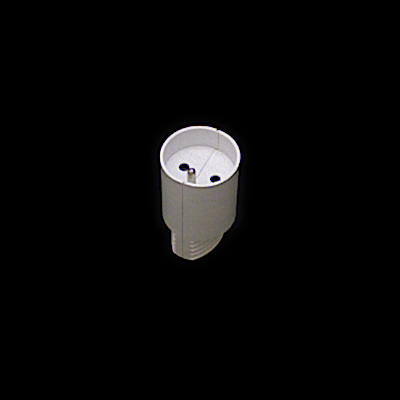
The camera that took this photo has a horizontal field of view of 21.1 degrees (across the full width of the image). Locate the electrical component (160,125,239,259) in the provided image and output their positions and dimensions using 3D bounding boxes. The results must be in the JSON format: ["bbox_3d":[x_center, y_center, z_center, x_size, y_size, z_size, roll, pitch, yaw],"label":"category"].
[{"bbox_3d":[0.000,0.000,0.617,0.043,0.043,0.081,0,-38,1],"label":"electrical component"}]
